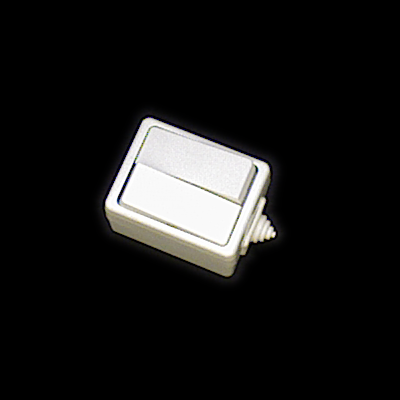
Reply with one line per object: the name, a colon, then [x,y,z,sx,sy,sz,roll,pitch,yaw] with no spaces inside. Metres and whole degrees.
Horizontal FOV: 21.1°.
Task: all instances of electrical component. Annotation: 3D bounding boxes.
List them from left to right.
electrical component: [0.000,0.000,0.626,0.096,0.062,0.060,22,-16,7]
